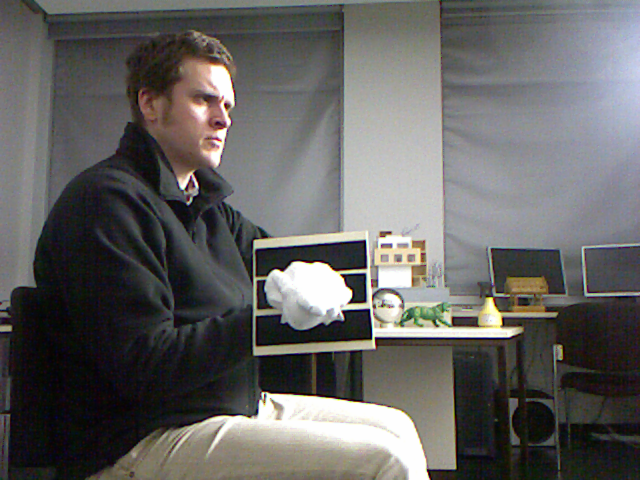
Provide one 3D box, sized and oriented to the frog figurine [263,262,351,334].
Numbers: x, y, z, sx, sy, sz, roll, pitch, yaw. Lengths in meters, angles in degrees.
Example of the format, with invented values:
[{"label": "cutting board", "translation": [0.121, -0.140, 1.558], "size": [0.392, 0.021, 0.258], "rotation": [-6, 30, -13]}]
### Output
[{"label": "frog figurine", "translation": [-0.024, 0.084, 0.791], "size": [0.138, 0.125, 0.158], "rotation": [15, -15, 12]}]
